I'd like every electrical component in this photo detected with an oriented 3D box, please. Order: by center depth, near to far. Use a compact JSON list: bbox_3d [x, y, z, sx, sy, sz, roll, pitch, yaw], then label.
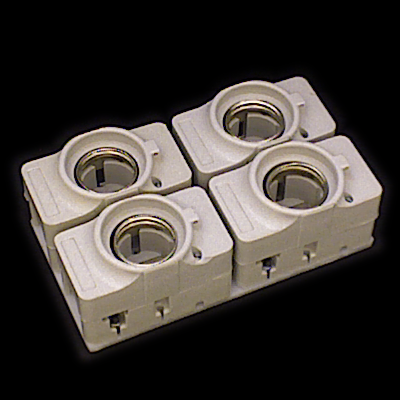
[{"bbox_3d":[0.000,0.000,0.628,0.186,0.105,0.060,-19,-35,-15],"label":"electrical component"}]
